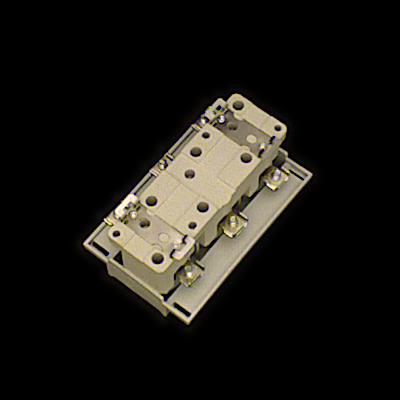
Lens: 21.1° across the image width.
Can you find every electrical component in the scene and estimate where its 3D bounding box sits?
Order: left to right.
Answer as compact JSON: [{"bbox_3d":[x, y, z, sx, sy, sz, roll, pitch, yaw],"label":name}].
[{"bbox_3d":[0.000,0.000,0.633,0.078,0.122,0.063,35,-21,15],"label":"electrical component"}]
